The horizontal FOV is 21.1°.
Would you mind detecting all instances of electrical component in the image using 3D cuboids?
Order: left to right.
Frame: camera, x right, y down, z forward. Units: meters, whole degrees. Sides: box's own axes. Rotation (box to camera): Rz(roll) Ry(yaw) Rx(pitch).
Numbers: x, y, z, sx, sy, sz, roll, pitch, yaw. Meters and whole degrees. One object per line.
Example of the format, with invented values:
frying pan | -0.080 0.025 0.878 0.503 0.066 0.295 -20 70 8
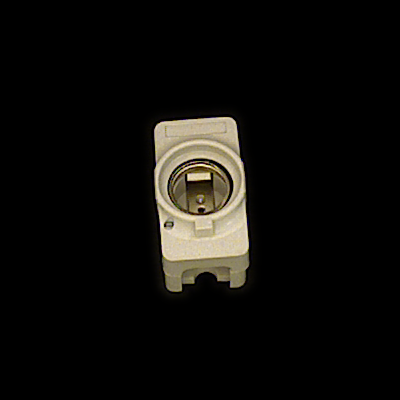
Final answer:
electrical component | 0.000 0.000 0.635 0.050 0.089 0.055 -4 -27 -2
